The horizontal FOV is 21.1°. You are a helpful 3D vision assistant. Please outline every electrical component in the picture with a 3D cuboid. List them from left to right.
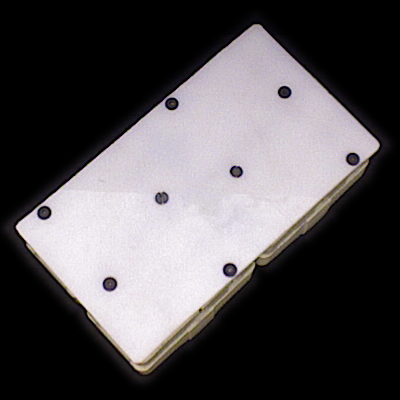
[{"bbox_3d":[0.000,0.000,0.625,0.187,0.105,0.060,-41,-13,-11],"label":"electrical component"}]
